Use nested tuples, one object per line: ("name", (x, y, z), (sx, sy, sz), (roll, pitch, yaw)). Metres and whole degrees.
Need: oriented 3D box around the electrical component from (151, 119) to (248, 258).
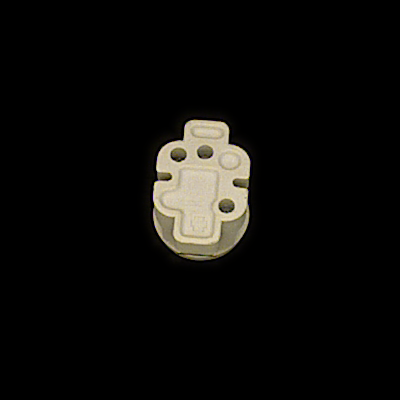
("electrical component", (0.000, 0.000, 0.635), (0.058, 0.078, 0.056), (4, -25, 1))
